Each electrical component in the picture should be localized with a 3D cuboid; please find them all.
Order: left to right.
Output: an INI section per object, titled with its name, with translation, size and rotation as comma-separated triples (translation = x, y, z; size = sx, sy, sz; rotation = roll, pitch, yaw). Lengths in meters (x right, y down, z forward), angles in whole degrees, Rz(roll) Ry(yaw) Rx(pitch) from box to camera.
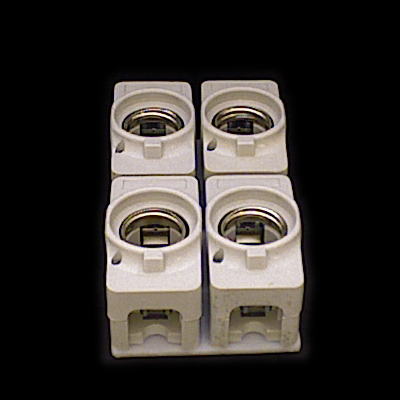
[electrical component]
translation = 0.000, 0.000, 0.630
size = 0.105, 0.061, 0.184
rotation = -1, 42, -2
